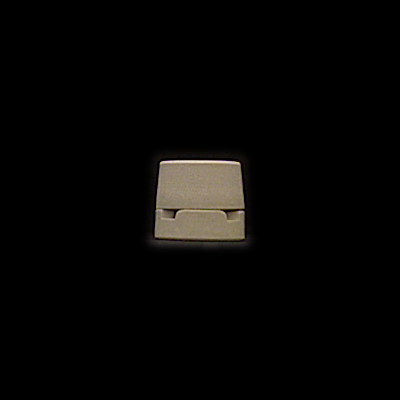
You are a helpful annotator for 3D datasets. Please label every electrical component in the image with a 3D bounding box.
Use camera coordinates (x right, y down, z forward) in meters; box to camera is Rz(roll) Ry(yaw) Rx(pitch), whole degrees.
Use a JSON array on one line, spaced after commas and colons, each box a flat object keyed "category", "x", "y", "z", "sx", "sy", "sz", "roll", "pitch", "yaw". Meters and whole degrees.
[{"category": "electrical component", "x": 0.000, "y": 0.000, "z": 0.650, "sx": 0.055, "sy": 0.047, "sz": 0.055, "roll": 0, "pitch": 0, "yaw": 0}]
